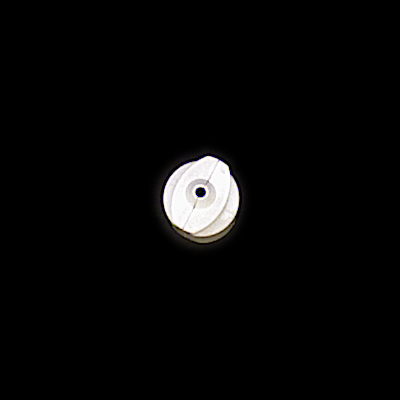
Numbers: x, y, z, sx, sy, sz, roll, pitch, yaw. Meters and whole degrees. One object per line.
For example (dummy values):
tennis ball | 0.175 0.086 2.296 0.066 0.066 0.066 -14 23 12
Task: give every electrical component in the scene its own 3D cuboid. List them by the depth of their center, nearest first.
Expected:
electrical component | 0.000 0.000 0.616 0.043 0.043 0.080 0 -6 1
